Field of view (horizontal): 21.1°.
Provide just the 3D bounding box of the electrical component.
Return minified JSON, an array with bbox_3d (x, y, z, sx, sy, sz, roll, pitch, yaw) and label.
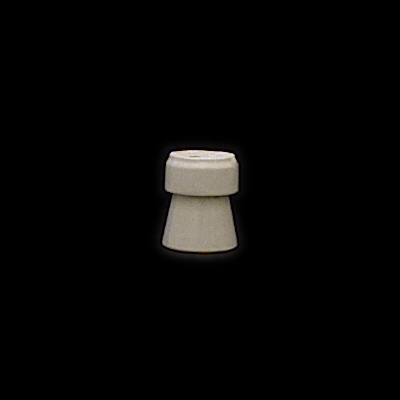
[{"bbox_3d":[0.000,0.000,0.646,0.045,0.055,0.044,2,11,0],"label":"electrical component"}]
